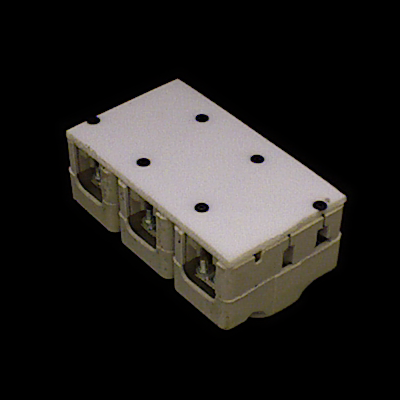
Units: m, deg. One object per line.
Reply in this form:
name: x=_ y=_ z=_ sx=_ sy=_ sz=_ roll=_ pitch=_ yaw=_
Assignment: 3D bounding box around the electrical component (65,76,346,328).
electrical component: x=0.000 y=0.000 z=0.637 sx=0.089 sy=0.063 sz=0.147 roll=-28 pitch=49 yaw=-29
